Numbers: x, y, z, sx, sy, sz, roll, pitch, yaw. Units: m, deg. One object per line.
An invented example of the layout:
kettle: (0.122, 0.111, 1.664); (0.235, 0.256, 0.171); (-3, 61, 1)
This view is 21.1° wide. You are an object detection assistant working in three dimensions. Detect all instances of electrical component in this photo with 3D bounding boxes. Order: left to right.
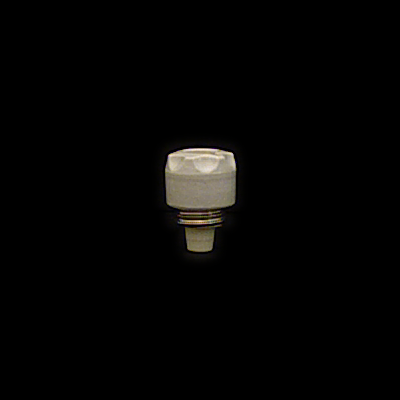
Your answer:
electrical component: (0.000, 0.000, 0.651); (0.043, 0.062, 0.043); (0, 12, 0)
